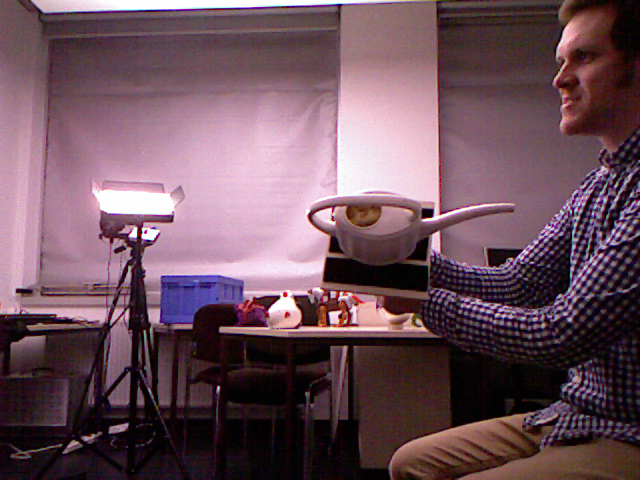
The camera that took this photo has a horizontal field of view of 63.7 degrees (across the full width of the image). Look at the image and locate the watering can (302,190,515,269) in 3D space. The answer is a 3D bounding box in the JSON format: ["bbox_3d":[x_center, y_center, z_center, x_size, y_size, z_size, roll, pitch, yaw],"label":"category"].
[{"bbox_3d":[0.145,-0.022,0.916,0.349,0.106,0.221,2,-22,7],"label":"watering can"}]
